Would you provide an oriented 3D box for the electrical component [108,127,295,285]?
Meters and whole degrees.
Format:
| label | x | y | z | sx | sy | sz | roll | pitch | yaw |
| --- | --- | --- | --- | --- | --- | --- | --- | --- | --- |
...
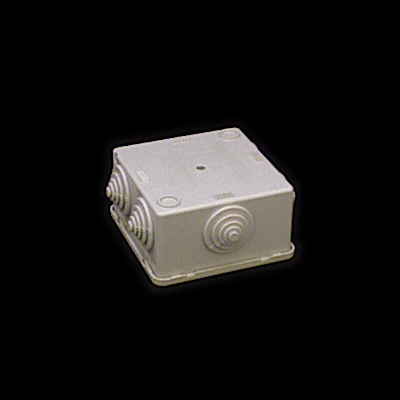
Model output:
| label | x | y | z | sx | sy | sz | roll | pitch | yaw |
| --- | --- | --- | --- | --- | --- | --- | --- | --- | --- |
| electrical component | 0.000 | 0.000 | 0.638 | 0.100 | 0.049 | 0.098 | -11 | 33 | -19 |
